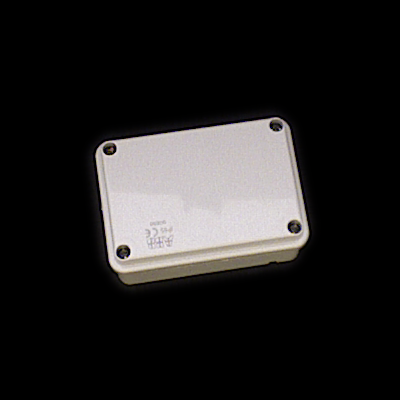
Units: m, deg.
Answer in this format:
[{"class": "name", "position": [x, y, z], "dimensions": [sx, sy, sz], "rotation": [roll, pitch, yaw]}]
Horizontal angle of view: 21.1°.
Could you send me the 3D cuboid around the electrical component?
[{"class": "electrical component", "position": [0.000, 0.000, 0.626], "dimensions": [0.113, 0.078, 0.057], "rotation": [-8, -17, -3]}]
